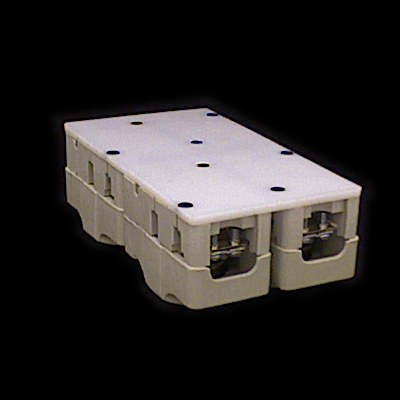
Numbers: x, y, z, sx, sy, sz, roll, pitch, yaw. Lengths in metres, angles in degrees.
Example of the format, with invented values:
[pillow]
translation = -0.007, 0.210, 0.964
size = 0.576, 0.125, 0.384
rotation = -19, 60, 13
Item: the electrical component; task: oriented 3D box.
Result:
[electrical component]
translation = 0.000, 0.000, 0.638
size = 0.105, 0.061, 0.184
rotation = -10, 23, -26
